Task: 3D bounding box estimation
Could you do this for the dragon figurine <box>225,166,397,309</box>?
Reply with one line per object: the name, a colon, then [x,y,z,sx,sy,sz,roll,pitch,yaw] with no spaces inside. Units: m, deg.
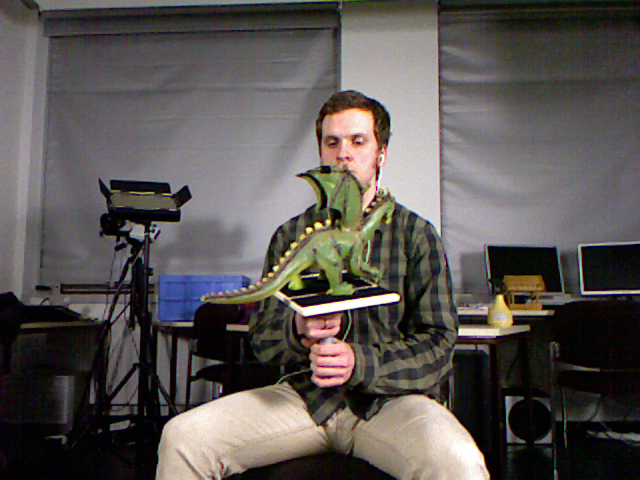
dragon figurine: [0.008,-0.019,0.965,0.413,0.240,0.123,-11,17,-40]
